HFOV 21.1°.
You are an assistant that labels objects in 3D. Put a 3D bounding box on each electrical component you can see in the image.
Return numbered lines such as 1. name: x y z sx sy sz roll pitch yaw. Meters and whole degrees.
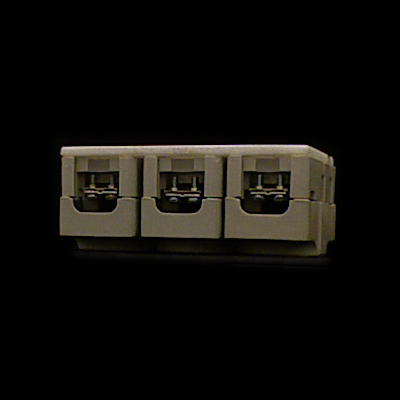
1. electrical component: 0.000 0.000 0.658 0.150 0.062 0.089 1 0 17
